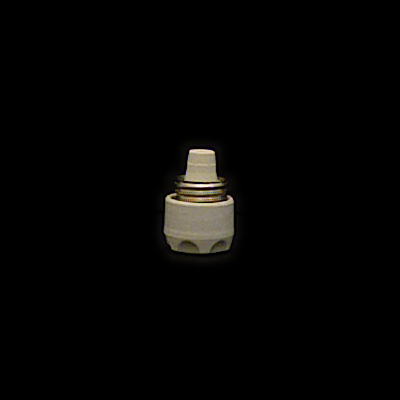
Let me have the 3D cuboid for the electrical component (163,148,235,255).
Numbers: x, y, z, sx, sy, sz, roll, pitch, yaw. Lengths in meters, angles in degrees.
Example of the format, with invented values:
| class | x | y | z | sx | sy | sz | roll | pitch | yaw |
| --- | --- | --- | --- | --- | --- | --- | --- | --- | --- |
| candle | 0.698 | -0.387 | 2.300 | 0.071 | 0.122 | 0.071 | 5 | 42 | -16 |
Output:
| class | x | y | z | sx | sy | sz | roll | pitch | yaw |
| --- | --- | --- | --- | --- | --- | --- | --- | --- | --- |
| electrical component | 0.000 | 0.000 | 0.651 | 0.043 | 0.062 | 0.043 | 2 | 11 | 0 |
